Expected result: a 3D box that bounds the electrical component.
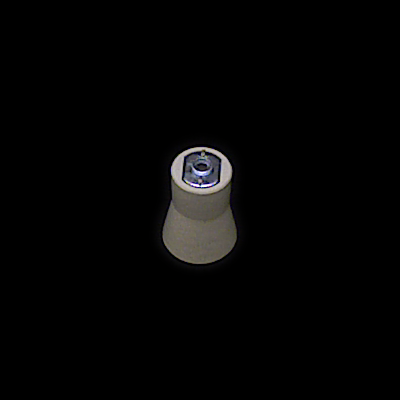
[{"bbox_3d":[0.000,0.000,0.626,0.044,0.044,0.065,0,-38,-2],"label":"electrical component"}]
